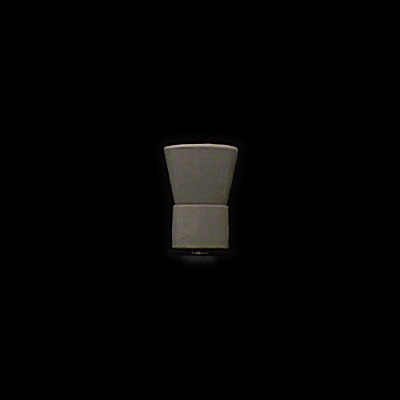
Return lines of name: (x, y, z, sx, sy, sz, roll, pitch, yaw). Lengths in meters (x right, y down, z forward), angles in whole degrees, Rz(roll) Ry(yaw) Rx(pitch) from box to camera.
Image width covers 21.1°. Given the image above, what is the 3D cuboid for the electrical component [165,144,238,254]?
electrical component: (0.000, 0.000, 0.651, 0.044, 0.065, 0.044, 0, 0, 0)
